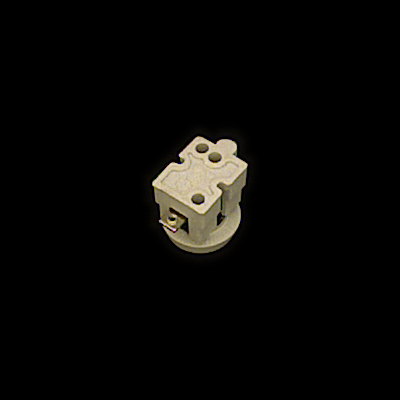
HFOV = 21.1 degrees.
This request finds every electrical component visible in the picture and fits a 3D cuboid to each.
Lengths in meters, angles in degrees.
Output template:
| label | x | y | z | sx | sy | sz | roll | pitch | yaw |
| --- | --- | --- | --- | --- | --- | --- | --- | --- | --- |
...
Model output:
| label | x | y | z | sx | sy | sz | roll | pitch | yaw |
| --- | --- | --- | --- | --- | --- | --- | --- | --- | --- |
| electrical component | 0.000 | 0.000 | 0.639 | 0.048 | 0.067 | 0.056 | 32 | -30 | 20 |
